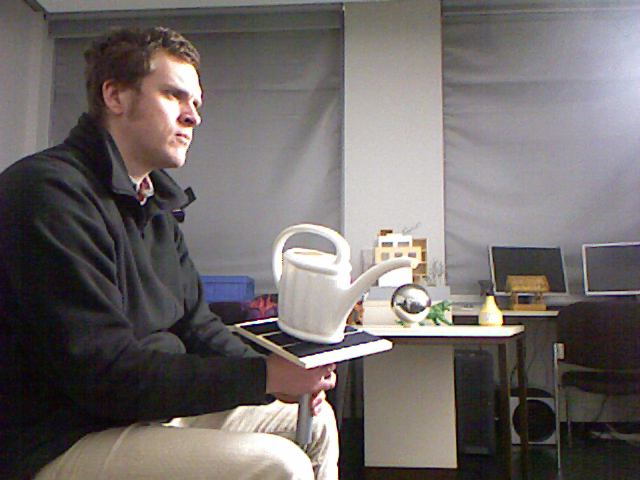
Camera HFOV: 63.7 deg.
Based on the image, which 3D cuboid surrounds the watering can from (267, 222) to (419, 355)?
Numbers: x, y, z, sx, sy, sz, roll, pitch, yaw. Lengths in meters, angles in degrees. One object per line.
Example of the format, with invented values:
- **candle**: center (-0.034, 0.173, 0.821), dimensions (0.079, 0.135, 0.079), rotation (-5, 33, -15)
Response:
- **watering can**: center (0.016, 0.090, 0.871), dimensions (0.104, 0.223, 0.350), rotation (-6, 14, -41)
